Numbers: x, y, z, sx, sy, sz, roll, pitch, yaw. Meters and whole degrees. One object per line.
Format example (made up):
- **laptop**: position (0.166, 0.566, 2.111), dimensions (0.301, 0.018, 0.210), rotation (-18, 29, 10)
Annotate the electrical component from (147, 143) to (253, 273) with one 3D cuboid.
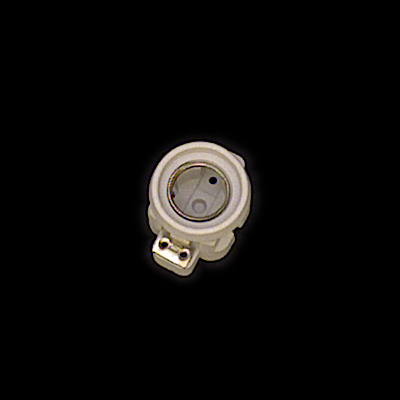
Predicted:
- **electrical component**: position (0.000, 0.000, 0.628), dimensions (0.058, 0.079, 0.056), rotation (27, -15, 7)
